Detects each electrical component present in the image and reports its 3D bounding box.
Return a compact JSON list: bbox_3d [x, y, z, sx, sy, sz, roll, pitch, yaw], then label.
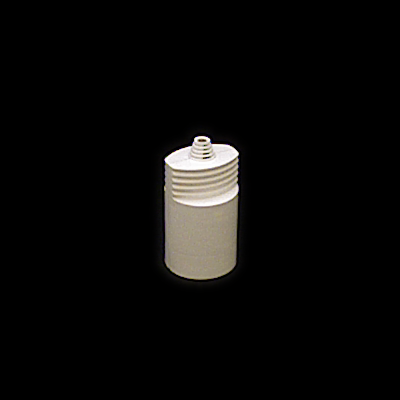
[{"bbox_3d":[0.000,0.000,0.629,0.043,0.082,0.042,1,31,0],"label":"electrical component"}]
